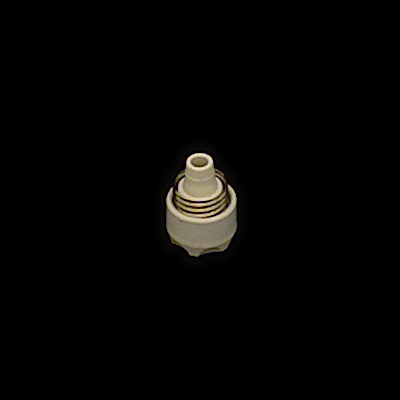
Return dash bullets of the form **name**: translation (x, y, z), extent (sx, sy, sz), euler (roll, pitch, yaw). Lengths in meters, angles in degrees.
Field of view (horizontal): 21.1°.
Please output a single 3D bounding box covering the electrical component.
- **electrical component**: translation (0.000, 0.000, 0.638), extent (0.043, 0.062, 0.043), euler (0, 43, 1)
